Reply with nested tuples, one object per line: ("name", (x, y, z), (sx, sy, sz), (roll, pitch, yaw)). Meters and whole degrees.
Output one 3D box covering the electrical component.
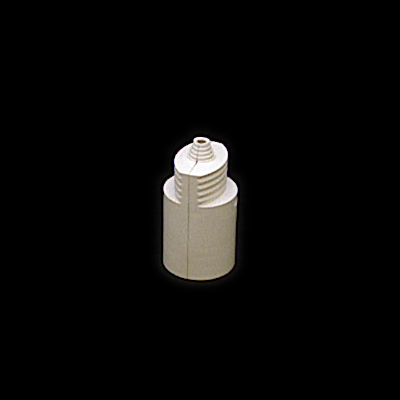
("electrical component", (0.000, 0.000, 0.628), (0.043, 0.082, 0.042), (1, 31, 0))
